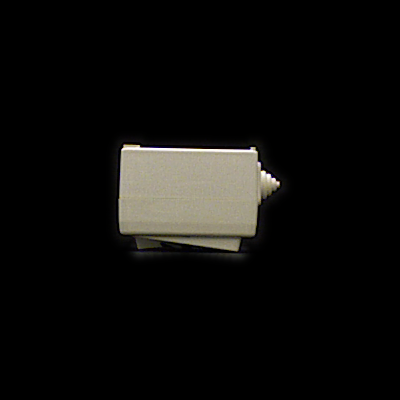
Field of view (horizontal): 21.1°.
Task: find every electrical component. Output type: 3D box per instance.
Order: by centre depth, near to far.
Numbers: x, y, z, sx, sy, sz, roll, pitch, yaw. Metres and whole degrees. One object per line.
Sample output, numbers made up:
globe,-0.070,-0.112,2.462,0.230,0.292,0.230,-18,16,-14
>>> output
electrical component,0.000,0.000,0.652,0.096,0.061,0.061,1,0,0
